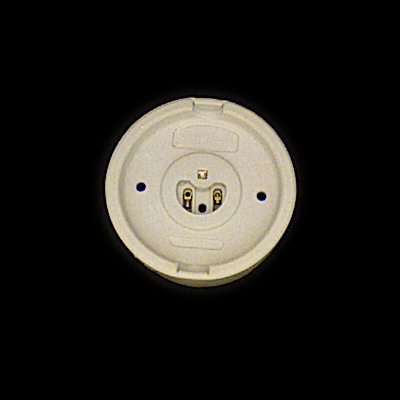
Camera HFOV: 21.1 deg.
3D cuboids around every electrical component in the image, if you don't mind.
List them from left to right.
[{"bbox_3d":[0.000,0.000,0.635,0.108,0.108,0.060,0,-16,0],"label":"electrical component"}]
